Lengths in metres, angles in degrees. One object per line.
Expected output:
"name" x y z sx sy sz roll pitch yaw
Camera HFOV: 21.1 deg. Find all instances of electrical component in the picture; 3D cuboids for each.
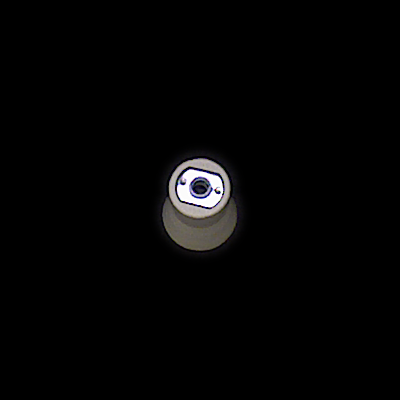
"electrical component" 0.000 0.000 0.624 0.044 0.044 0.065 0 -16 0
